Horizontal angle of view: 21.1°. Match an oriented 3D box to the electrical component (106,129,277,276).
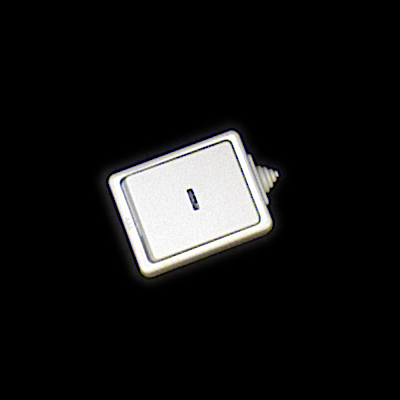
[{"bbox_3d":[0.000,0.000,0.627,0.096,0.062,0.061,-21,-6,-2],"label":"electrical component"}]
